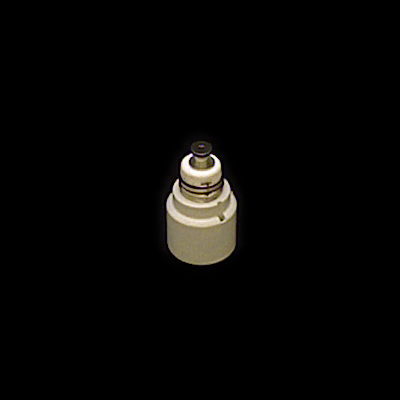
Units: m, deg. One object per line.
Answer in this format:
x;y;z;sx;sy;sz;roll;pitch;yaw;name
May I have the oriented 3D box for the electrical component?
0.000;0.000;0.623;0.040;0.079;0.039;0;41;1;electrical component
